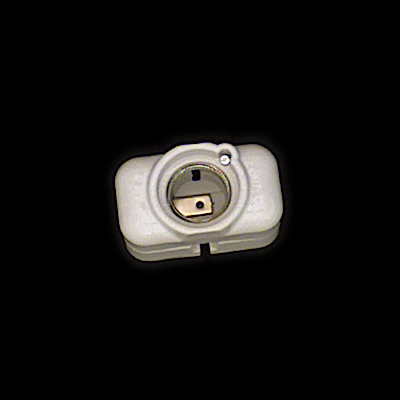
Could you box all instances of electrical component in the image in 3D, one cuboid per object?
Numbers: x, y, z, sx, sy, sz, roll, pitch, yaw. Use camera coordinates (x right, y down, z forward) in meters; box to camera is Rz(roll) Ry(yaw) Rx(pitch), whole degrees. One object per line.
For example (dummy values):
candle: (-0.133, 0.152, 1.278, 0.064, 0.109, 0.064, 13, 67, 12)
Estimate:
electrical component: (0.000, 0.000, 0.634, 0.095, 0.054, 0.059, -7, -15, -2)
